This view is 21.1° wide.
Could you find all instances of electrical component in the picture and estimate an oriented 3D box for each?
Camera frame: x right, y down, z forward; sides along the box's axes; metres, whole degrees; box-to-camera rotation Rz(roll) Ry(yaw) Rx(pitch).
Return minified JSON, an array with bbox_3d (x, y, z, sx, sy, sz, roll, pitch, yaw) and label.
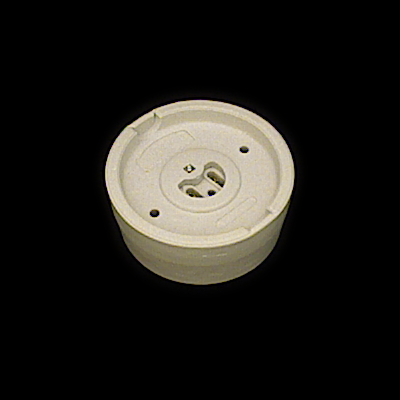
[{"bbox_3d":[0.000,0.000,0.635,0.108,0.107,0.060,0,-37,-1],"label":"electrical component"}]
